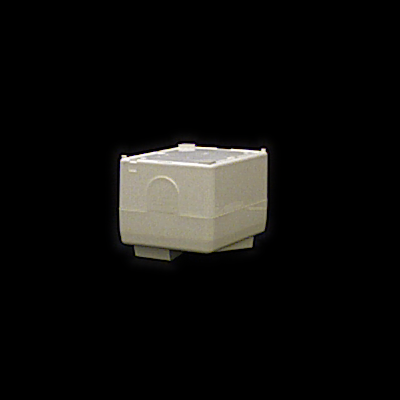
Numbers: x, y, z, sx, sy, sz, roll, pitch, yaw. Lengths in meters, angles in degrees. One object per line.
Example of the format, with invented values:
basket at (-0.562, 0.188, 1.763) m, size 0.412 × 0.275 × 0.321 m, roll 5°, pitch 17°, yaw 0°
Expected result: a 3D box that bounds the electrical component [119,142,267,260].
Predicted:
electrical component at (0.000, 0.000, 0.652) m, size 0.061 × 0.061 × 0.096 m, roll 6°, pitch 11°, yaw 27°
